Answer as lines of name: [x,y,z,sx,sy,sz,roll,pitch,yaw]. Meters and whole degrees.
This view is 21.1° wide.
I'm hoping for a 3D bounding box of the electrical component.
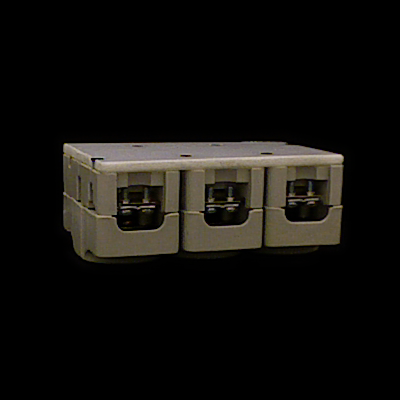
electrical component: [0.000,0.000,0.654,0.150,0.062,0.088,-2,11,-20]
